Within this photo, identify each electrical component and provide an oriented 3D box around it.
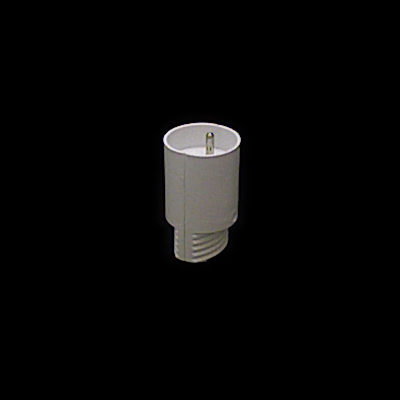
[{"bbox_3d":[0.000,0.000,0.630,0.043,0.082,0.042,1,31,-1],"label":"electrical component"}]
